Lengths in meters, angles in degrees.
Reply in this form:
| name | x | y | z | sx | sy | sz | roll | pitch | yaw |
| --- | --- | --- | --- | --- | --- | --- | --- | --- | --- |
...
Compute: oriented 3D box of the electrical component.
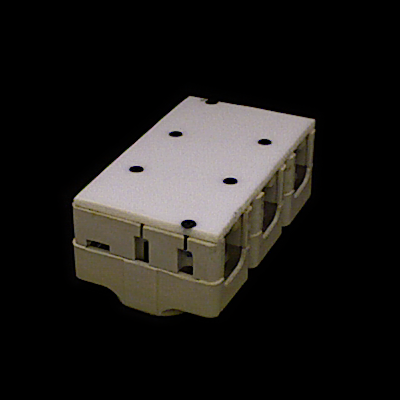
| name | x | y | z | sx | sy | sz | roll | pitch | yaw |
| --- | --- | --- | --- | --- | --- | --- | --- | --- | --- |
| electrical component | 0.000 | 0.000 | 0.637 | 0.089 | 0.063 | 0.147 | 14 | 34 | 21 |
